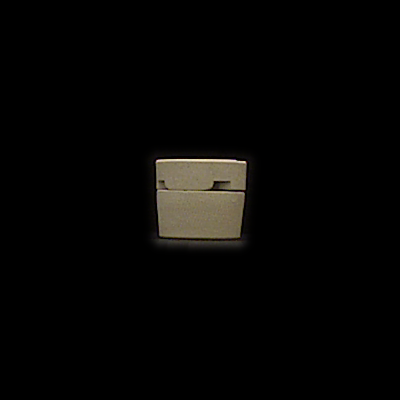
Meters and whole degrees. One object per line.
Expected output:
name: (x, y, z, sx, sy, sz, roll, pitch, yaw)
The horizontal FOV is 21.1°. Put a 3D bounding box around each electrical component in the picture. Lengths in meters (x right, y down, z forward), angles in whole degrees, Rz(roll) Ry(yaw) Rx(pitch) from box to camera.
electrical component: (0.000, 0.000, 0.650, 0.055, 0.047, 0.055, 2, 0, 0)
